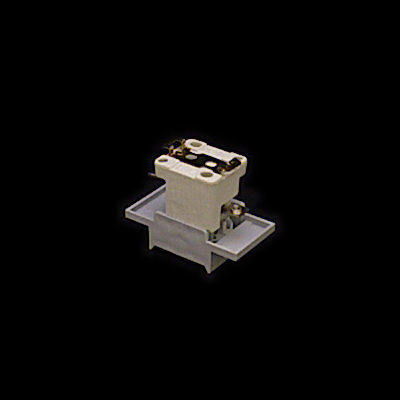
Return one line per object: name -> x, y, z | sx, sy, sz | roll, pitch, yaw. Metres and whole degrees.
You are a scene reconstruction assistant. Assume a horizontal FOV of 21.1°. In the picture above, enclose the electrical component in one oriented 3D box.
electrical component -> 0.000, 0.000, 0.634 | 0.080, 0.064, 0.042 | 20, 36, 29
